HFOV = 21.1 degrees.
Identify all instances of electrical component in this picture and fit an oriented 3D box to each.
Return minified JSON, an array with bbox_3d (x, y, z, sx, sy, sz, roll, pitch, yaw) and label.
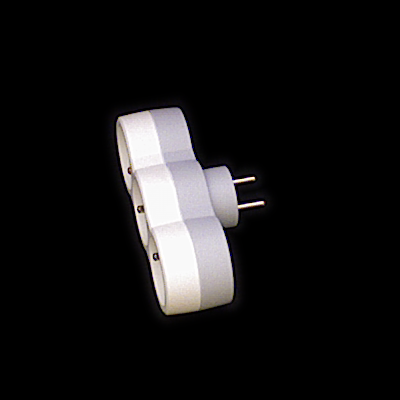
[{"bbox_3d":[0.000,0.000,0.633,0.074,0.137,0.052,-11,-37,-11],"label":"electrical component"}]
